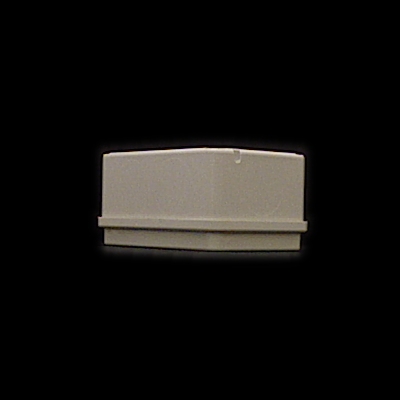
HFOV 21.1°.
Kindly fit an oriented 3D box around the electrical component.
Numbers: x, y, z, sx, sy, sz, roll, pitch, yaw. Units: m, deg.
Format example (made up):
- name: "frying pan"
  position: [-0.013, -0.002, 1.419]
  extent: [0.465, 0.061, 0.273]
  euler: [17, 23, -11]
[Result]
- name: "electrical component"
  position: [0.000, 0.000, 0.649]
  extent: [0.078, 0.057, 0.113]
  euler: [1, 0, -40]
